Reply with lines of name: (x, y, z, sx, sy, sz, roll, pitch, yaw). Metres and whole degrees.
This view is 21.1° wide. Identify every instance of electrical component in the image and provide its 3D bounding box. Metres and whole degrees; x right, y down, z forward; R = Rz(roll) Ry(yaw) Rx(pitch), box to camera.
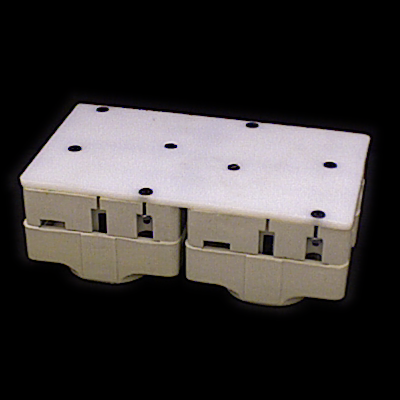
electrical component: (0.000, 0.000, 0.633, 0.186, 0.061, 0.104, 7, 32, 10)
